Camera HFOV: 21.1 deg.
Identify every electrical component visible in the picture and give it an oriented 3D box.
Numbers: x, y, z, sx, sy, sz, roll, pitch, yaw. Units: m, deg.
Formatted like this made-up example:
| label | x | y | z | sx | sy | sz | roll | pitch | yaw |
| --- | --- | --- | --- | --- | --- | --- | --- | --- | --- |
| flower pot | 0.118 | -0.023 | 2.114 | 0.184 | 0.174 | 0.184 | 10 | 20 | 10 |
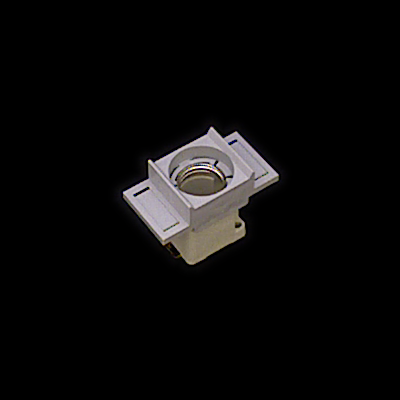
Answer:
| label | x | y | z | sx | sy | sz | roll | pitch | yaw |
| --- | --- | --- | --- | --- | --- | --- | --- | --- | --- |
| electrical component | 0.000 | 0.000 | 0.627 | 0.081 | 0.042 | 0.064 | -29 | -34 | -20 |
